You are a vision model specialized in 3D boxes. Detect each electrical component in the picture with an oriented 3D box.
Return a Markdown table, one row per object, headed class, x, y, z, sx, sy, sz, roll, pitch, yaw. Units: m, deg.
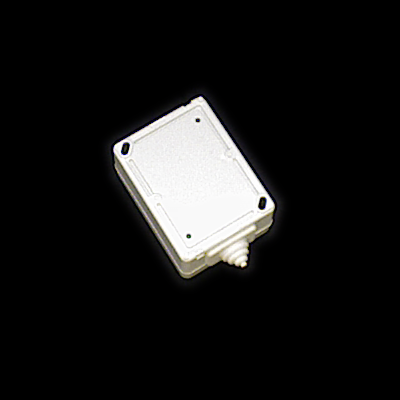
| class | x | y | z | sx | sy | sz | roll | pitch | yaw |
| --- | --- | --- | --- | --- | --- | --- | --- | --- | --- |
| electrical component | 0.000 | 0.000 | 0.624 | 0.062 | 0.097 | 0.060 | -31 | -15 | -9 |
